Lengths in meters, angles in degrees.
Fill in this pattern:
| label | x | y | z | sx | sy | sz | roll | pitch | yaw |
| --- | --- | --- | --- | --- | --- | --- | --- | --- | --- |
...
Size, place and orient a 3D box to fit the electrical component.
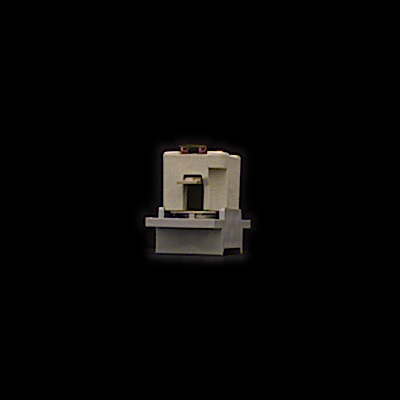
| label | x | y | z | sx | sy | sz | roll | pitch | yaw |
| --- | --- | --- | --- | --- | --- | --- | --- | --- | --- |
| electrical component | 0.000 | 0.000 | 0.650 | 0.042 | 0.064 | 0.081 | 1 | 1 | 16 |
